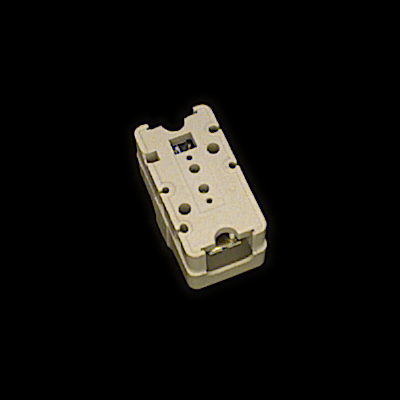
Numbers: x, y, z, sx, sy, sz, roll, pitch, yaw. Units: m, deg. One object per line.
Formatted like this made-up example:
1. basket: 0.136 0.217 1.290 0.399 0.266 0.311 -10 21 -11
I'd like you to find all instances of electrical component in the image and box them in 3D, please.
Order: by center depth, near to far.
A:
1. electrical component: 0.000 0.000 0.636 0.050 0.089 0.055 -21 -25 -9
